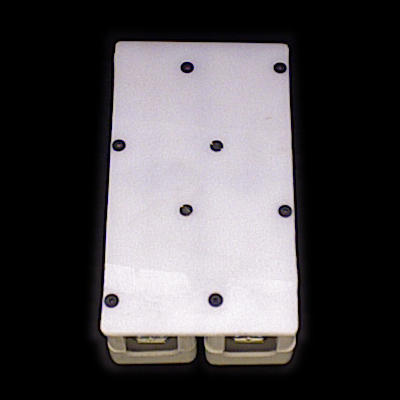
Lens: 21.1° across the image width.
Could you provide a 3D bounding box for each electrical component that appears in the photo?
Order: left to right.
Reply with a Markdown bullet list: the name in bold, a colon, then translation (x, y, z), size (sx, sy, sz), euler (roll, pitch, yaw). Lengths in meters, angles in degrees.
- **electrical component**: translation (0.000, 0.000, 0.625), size (0.105, 0.186, 0.060), euler (0, -27, 0)
